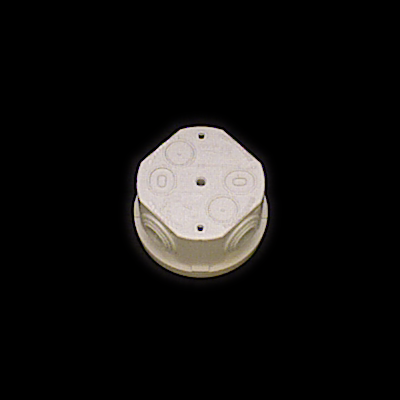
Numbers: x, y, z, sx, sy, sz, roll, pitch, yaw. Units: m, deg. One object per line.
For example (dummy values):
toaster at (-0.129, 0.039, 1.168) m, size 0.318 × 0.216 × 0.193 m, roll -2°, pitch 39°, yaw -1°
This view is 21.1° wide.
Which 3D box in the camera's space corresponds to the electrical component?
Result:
electrical component at (0.000, 0.000, 0.631) m, size 0.080 × 0.080 × 0.050 m, roll 0°, pitch -26°, yaw 0°
